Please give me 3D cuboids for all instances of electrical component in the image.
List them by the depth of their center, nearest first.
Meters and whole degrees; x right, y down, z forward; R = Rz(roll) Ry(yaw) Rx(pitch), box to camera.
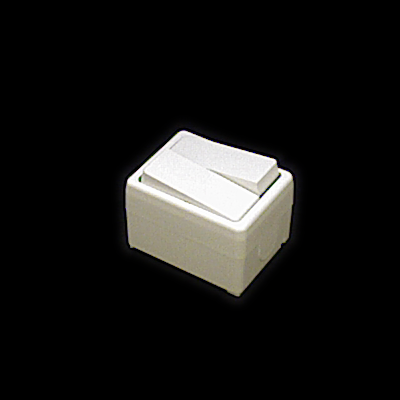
[{"bbox_3d":[0.000,0.000,0.632,0.096,0.061,0.061,24,46,23],"label":"electrical component"}]
